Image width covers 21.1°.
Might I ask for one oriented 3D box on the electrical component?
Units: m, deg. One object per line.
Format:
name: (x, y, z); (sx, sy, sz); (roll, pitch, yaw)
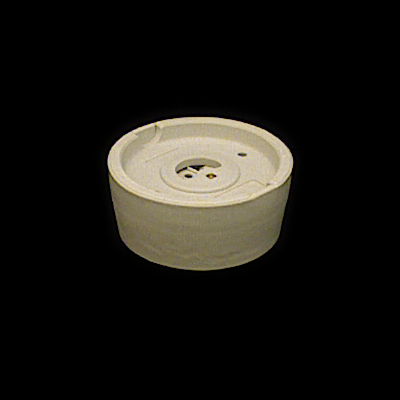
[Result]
electrical component: (0.000, 0.000, 0.641); (0.108, 0.061, 0.106); (1, 32, 0)
